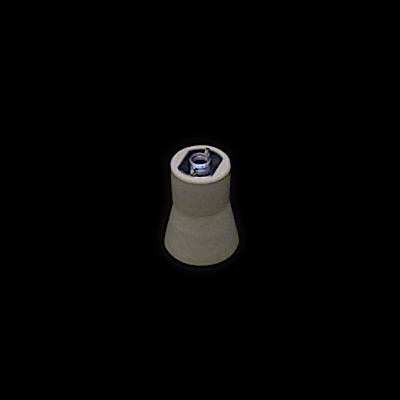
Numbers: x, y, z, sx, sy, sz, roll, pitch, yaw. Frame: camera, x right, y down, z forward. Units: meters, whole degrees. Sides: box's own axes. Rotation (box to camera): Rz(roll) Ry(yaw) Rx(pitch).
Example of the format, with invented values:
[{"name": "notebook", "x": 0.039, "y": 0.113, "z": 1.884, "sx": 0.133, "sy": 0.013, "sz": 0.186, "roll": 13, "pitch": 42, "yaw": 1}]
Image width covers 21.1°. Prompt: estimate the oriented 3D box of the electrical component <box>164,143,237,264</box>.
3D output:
[{"name": "electrical component", "x": 0.000, "y": 0.000, "z": 0.630, "sx": 0.044, "sy": 0.066, "sz": 0.044, "roll": 0, "pitch": 42, "yaw": 1}]
